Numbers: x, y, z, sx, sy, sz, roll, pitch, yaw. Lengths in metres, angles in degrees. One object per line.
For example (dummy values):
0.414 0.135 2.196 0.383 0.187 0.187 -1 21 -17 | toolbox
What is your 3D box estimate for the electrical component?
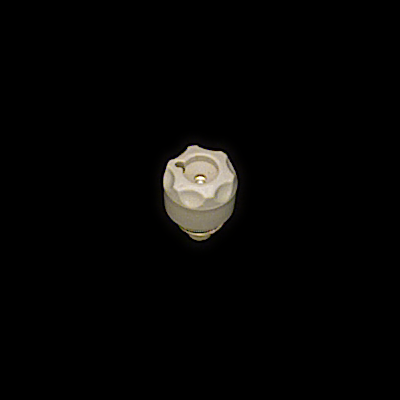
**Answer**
0.000 0.000 0.636 0.043 0.043 0.062 0 -37 -1 | electrical component
